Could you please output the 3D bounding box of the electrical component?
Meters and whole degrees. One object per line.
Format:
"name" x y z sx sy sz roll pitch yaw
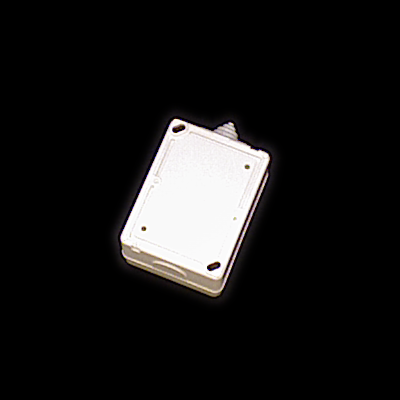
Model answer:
"electrical component" 0.000 0.000 0.628 0.062 0.096 0.060 21 -17 6
